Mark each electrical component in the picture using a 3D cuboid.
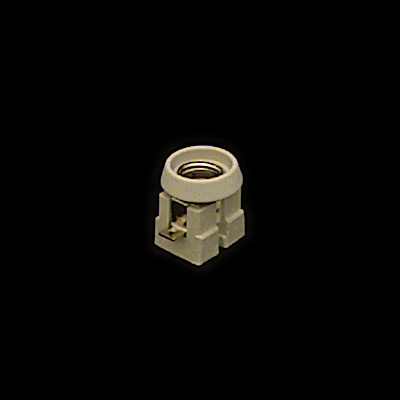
[{"bbox_3d":[0.000,0.000,0.642,0.048,0.056,0.066,22,38,32],"label":"electrical component"}]
